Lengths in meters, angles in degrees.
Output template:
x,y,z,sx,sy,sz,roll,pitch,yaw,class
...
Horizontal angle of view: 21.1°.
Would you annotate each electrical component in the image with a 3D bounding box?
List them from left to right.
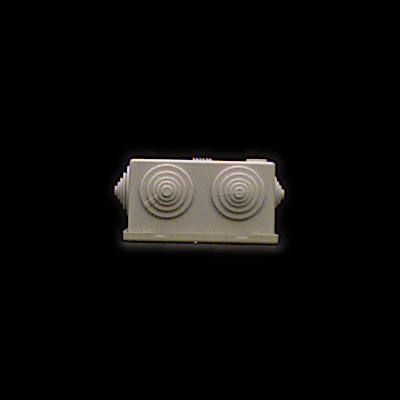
x,y,z,sx,sy,sz,roll,pitch,yaw,class
0.000,0.000,0.650,0.100,0.048,0.099,1,0,-3,electrical component
